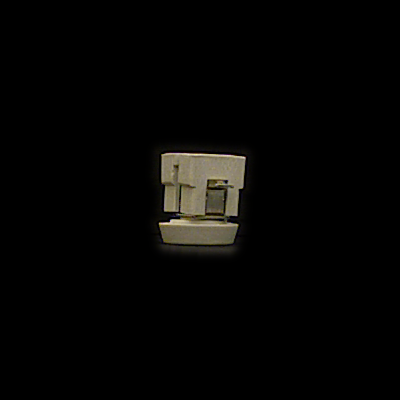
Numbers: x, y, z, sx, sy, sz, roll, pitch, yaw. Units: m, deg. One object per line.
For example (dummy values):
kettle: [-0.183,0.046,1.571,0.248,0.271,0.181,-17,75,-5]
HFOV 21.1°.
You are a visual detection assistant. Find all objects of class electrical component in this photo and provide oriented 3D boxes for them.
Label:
electrical component: [0.000,0.000,0.656,0.049,0.055,0.066,2,2,-27]
